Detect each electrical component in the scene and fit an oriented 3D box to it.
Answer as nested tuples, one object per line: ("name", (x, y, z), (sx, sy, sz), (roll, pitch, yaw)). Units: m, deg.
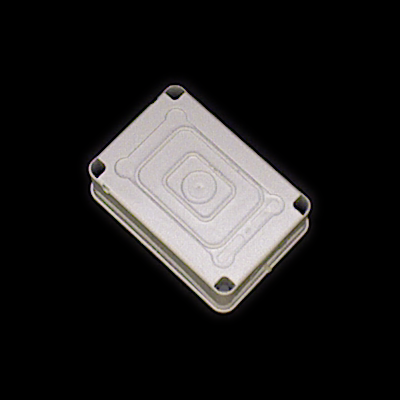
("electrical component", (0.000, 0.000, 0.628), (0.113, 0.078, 0.057), (42, -13, 11))
